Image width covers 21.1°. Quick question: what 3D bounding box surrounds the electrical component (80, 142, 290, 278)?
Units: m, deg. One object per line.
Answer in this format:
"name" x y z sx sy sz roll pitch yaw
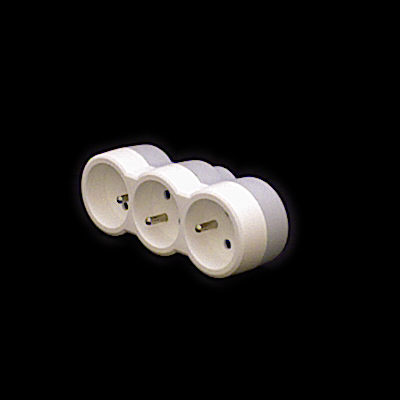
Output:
"electrical component" 0.000 0.000 0.642 0.137 0.053 0.074 19 25 41
